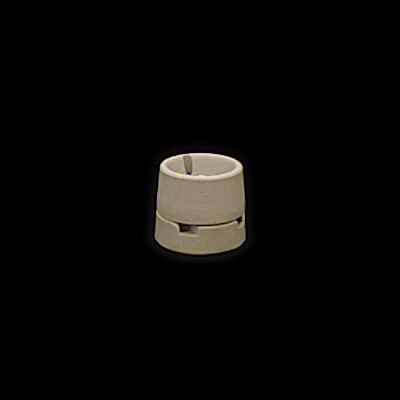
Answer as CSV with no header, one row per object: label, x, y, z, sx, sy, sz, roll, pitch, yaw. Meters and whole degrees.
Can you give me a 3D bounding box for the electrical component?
electrical component,0.000,0.000,0.643,0.055,0.047,0.055,1,20,0
